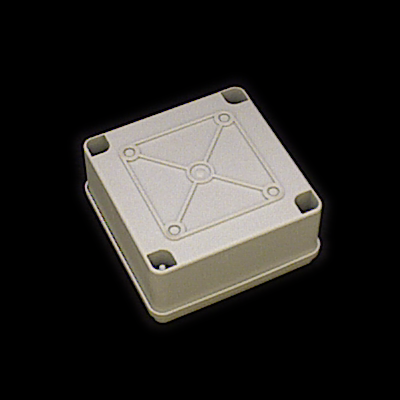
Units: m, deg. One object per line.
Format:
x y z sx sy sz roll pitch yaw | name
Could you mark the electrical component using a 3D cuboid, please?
0.000 0.000 0.627 0.109 0.108 0.056 -21 -34 -15 | electrical component
